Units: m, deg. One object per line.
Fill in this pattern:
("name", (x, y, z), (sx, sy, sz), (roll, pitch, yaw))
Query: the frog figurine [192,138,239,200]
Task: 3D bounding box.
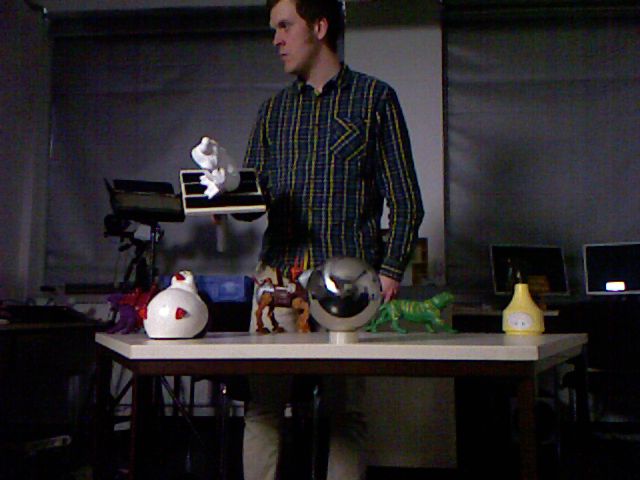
("frog figurine", (-0.270, -0.199, 1.346), (0.123, 0.156, 0.141), (2, 37, -7))
